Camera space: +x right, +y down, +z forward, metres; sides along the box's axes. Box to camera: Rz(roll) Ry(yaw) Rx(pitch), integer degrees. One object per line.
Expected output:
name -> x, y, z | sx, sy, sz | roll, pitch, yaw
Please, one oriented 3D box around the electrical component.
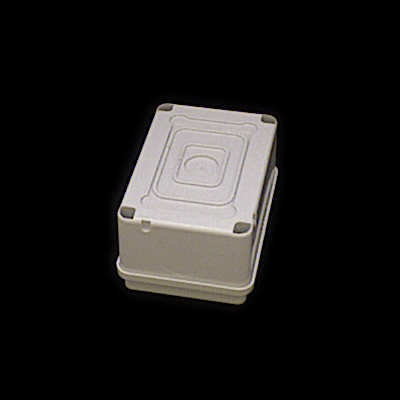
electrical component -> 0.000, 0.000, 0.632 | 0.078, 0.057, 0.112 | 8, 42, 8
